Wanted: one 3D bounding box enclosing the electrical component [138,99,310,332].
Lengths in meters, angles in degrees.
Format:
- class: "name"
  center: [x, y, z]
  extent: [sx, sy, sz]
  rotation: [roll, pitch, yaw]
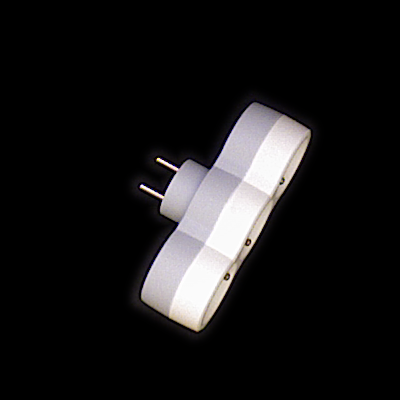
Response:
- class: "electrical component"
  center: [0.000, 0.000, 0.629]
  extent: [0.074, 0.139, 0.052]
  rotation: [28, -14, 10]
